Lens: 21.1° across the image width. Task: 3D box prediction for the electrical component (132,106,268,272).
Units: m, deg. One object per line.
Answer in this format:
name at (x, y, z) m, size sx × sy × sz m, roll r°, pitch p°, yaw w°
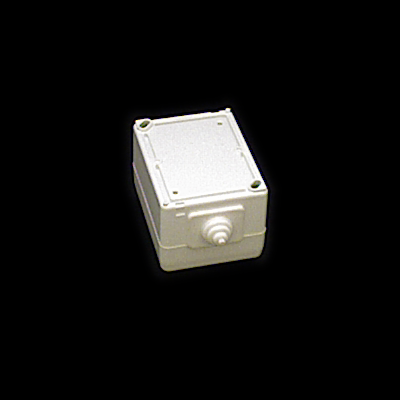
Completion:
electrical component at (0.000, 0.000, 0.625) m, size 0.062 × 0.061 × 0.096 m, roll -9°, pitch 42°, yaw -11°
